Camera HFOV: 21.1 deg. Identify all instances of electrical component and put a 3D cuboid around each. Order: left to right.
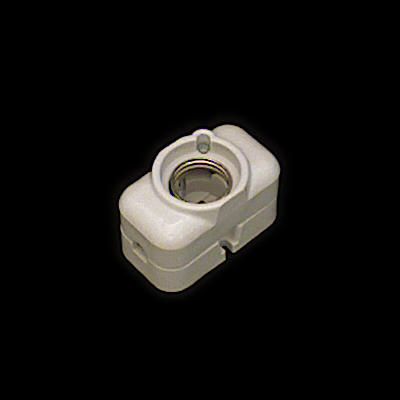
[{"bbox_3d":[0.000,0.000,0.636,0.095,0.059,0.053,-36,61,-25],"label":"electrical component"}]
